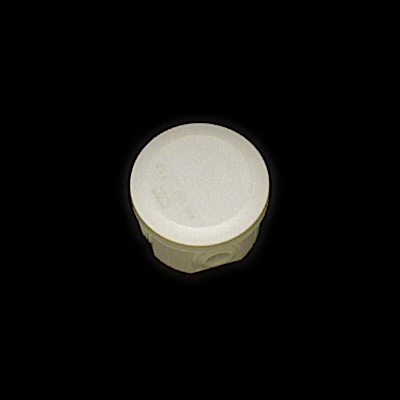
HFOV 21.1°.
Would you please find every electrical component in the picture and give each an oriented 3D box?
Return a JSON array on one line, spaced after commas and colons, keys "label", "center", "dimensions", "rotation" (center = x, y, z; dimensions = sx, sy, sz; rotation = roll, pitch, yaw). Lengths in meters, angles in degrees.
[{"label": "electrical component", "center": [0.000, 0.000, 0.631], "dimensions": [0.080, 0.080, 0.050], "rotation": [0, -28, 0]}]
